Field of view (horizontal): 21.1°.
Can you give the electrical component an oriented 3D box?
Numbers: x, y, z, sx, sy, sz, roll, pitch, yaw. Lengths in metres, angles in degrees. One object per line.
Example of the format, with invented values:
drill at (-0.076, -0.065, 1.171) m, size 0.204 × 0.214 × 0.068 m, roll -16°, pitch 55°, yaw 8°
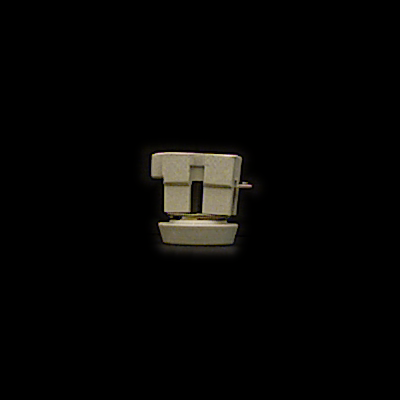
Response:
electrical component at (0.000, 0.000, 0.656) m, size 0.066 × 0.055 × 0.048 m, roll 2°, pitch 1°, yaw 8°
